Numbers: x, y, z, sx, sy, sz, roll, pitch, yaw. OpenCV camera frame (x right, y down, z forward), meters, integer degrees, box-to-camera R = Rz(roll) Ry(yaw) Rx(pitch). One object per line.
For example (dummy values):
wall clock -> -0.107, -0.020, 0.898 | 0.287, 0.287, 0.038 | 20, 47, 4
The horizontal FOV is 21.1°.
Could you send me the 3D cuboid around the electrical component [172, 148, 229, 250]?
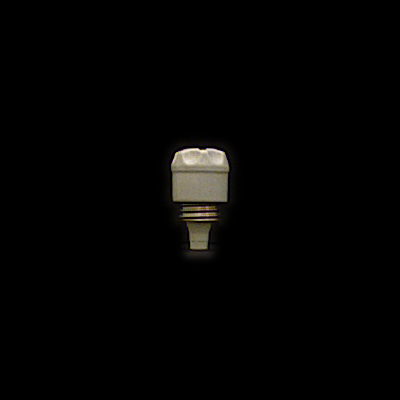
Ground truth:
electrical component -> 0.000, 0.000, 0.654 | 0.035, 0.061, 0.035 | 1, 2, 0
